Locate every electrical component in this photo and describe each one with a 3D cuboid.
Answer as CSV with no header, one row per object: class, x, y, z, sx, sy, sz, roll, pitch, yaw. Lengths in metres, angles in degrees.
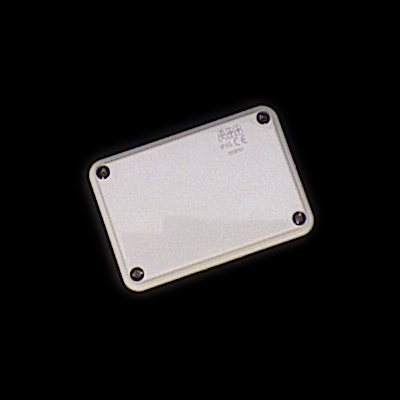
electrical component,0.000,0.000,0.628,0.113,0.078,0.057,-19,-6,-2
